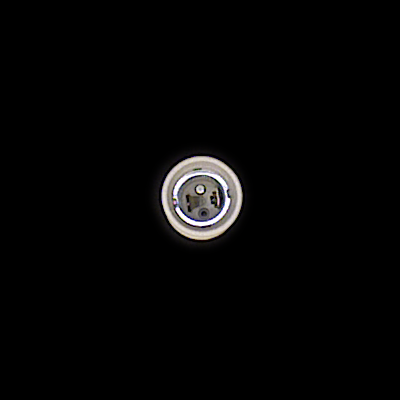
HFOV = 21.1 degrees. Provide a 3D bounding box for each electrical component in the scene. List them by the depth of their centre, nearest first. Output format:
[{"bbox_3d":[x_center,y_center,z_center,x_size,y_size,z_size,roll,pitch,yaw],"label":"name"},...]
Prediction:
[{"bbox_3d":[0.000,0.000,0.629,0.045,0.045,0.055,0,-6,0],"label":"electrical component"}]
